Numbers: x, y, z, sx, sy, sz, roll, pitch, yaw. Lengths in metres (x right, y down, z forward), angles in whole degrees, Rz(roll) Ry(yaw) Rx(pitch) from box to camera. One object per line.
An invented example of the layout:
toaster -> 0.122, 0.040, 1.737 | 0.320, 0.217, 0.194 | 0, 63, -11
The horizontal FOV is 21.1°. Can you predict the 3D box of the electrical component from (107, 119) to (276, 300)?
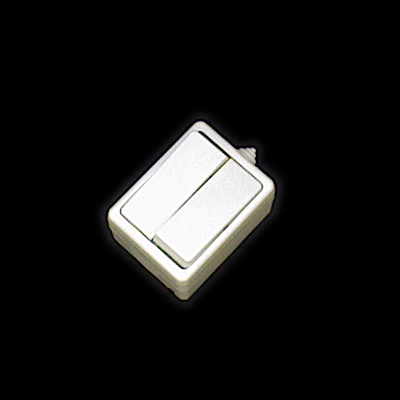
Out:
electrical component -> 0.000, 0.000, 0.626 | 0.062, 0.096, 0.060 | 42, -13, 11
